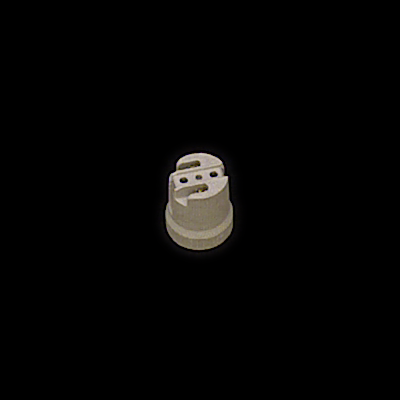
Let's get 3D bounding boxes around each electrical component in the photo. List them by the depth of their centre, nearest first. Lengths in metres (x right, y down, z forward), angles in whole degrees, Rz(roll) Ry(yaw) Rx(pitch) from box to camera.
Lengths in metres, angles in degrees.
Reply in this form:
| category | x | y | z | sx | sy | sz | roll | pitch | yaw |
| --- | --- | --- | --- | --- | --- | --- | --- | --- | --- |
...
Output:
| category | x | y | z | sx | sy | sz | roll | pitch | yaw |
| --- | --- | --- | --- | --- | --- | --- | --- | --- | --- |
| electrical component | 0.000 | 0.000 | 0.634 | 0.040 | 0.040 | 0.046 | 0 | -38 | -1 |
